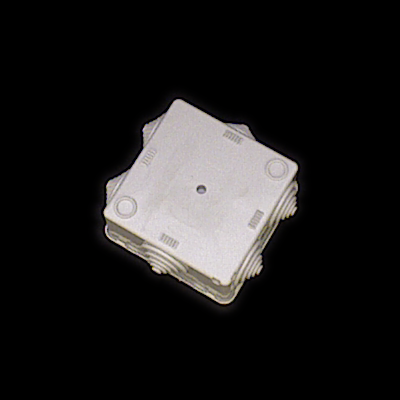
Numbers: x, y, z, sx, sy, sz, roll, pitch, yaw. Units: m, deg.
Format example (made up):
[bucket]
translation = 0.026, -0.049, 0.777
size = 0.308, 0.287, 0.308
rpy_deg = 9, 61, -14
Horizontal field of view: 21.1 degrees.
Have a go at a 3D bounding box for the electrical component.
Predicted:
[electrical component]
translation = 0.000, 0.000, 0.631
size = 0.100, 0.100, 0.048
rpy_deg = 30, -14, 9
